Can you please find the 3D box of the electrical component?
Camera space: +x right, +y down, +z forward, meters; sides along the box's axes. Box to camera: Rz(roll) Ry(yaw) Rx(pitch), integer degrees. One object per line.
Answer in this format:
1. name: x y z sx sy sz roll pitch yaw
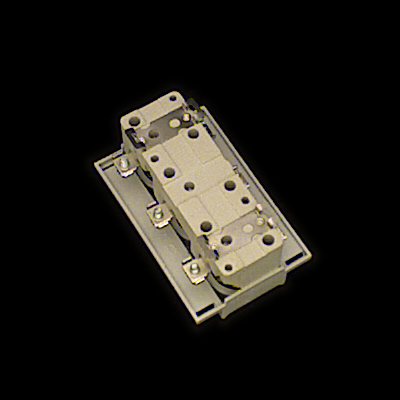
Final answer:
1. electrical component: 0.000 0.000 0.635 0.079 0.121 0.063 -29 -23 -14
